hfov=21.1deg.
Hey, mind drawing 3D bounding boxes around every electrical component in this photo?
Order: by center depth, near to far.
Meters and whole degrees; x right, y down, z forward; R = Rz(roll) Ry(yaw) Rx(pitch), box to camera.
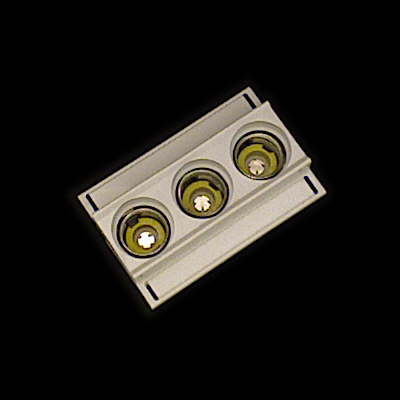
[{"bbox_3d":[0.000,0.000,0.637,0.122,0.078,0.063,-33,-12,-8],"label":"electrical component"}]
